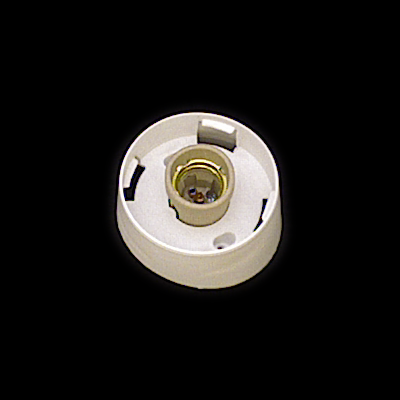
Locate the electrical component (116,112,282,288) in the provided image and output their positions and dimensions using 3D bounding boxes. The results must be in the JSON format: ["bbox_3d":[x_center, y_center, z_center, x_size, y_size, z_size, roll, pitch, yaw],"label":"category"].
[{"bbox_3d":[0.000,0.000,0.625,0.099,0.099,0.064,0,-27,0],"label":"electrical component"}]
